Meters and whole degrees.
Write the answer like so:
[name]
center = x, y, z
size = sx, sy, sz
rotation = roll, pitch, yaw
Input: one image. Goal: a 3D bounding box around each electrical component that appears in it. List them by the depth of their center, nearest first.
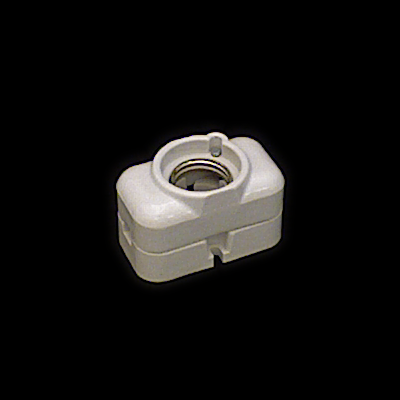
[electrical component]
center = 0.000, 0.000, 0.639
size = 0.095, 0.060, 0.053
rotation = -17, 46, -19
